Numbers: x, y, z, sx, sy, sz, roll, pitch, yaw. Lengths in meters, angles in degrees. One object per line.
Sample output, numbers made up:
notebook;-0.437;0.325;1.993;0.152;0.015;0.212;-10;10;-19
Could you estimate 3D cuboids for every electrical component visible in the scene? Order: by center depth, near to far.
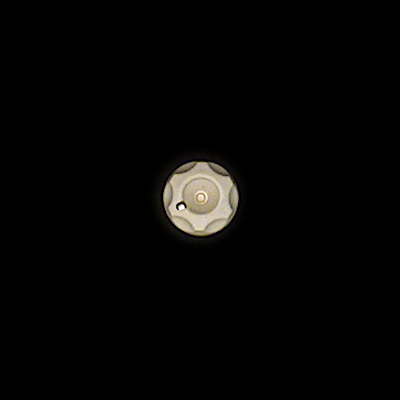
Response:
electrical component;0.000;0.000;0.635;0.043;0.043;0.062;0;-6;0
